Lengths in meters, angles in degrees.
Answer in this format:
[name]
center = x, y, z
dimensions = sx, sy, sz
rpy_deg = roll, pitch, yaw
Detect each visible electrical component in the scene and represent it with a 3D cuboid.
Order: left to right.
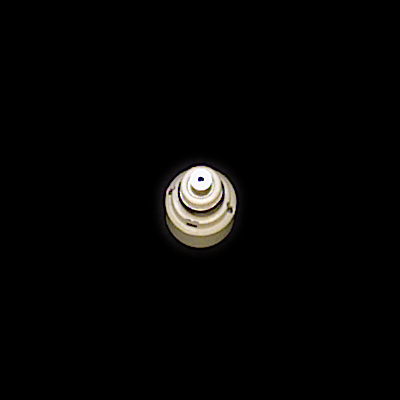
[electrical component]
center = 0.000, 0.000, 0.617
dimensions = 0.040, 0.040, 0.078
rpy_deg = 0, -17, -1
